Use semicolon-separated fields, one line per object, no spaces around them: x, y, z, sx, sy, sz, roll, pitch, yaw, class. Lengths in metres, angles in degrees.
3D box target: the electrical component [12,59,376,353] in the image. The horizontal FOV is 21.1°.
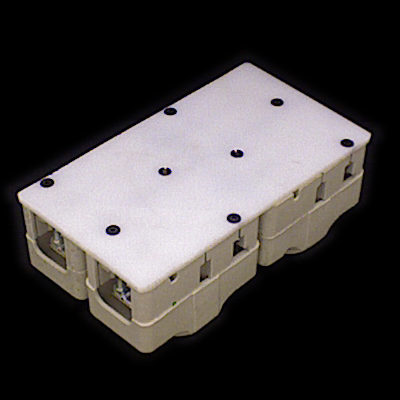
0.000;0.000;0.630;0.186;0.061;0.104;-33;52;-32;electrical component
